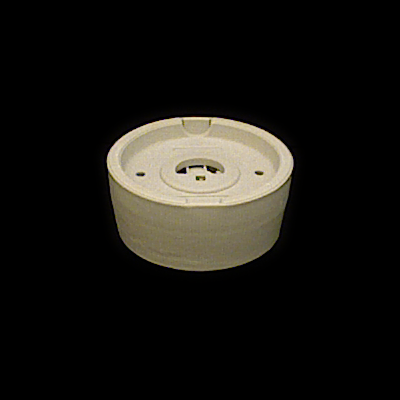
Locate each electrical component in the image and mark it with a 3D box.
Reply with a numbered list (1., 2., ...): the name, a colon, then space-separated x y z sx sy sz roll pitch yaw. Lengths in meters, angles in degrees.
1. electrical component: 0.000 0.000 0.638 0.108 0.061 0.106 1 31 0
